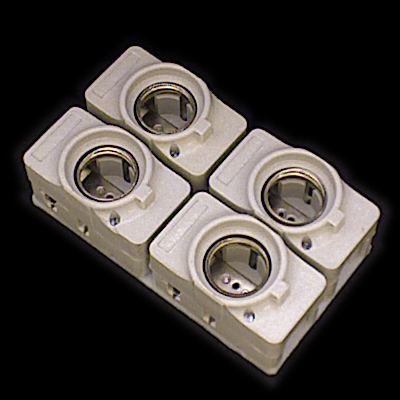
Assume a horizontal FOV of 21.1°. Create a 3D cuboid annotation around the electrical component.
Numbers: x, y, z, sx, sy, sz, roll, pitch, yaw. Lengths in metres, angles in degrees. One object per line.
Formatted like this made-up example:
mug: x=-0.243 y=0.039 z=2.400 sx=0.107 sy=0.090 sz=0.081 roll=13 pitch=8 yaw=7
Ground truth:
electrical component: x=0.000 y=0.000 z=0.626 sx=0.186 sy=0.106 sz=0.060 roll=35 pitch=-22 yaw=16
